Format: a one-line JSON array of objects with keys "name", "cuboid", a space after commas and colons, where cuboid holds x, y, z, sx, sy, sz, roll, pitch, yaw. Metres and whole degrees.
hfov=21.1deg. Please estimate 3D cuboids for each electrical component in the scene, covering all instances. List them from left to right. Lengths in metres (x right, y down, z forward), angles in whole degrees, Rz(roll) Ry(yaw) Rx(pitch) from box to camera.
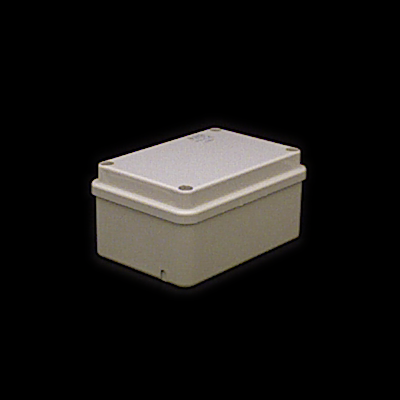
[{"name": "electrical component", "cuboid": [0.000, 0.000, 0.640, 0.077, 0.058, 0.113, 18, 27, 38]}]
